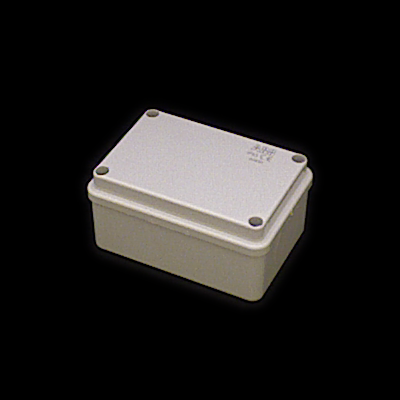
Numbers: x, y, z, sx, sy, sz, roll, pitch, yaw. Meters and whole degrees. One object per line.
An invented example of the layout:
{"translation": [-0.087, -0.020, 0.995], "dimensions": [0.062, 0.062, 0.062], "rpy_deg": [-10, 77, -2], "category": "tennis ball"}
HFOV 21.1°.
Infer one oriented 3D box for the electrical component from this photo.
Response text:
{"translation": [0.000, 0.000, 0.633], "dimensions": [0.113, 0.057, 0.077], "rpy_deg": [18, 45, 19], "category": "electrical component"}
